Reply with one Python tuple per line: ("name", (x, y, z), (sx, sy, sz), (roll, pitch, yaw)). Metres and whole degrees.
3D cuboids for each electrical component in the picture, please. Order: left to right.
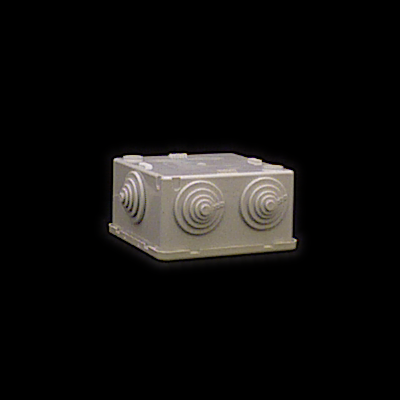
("electrical component", (0.000, 0.000, 0.644), (0.100, 0.049, 0.099), (-4, 11, -24))
